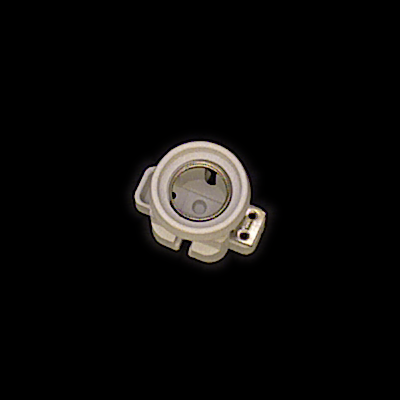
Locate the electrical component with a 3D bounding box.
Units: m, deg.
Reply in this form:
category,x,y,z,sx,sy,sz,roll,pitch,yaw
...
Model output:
category,x,y,z,sx,sy,sz,roll,pitch,yaw
electrical component,0.000,0.000,0.629,0.078,0.058,0.056,22,-16,6
